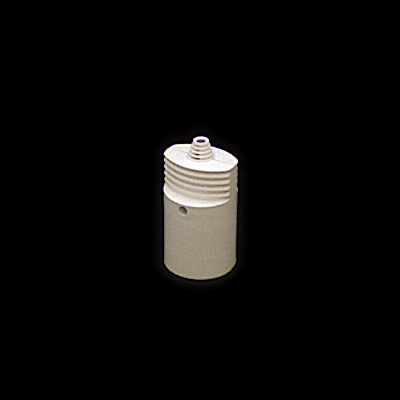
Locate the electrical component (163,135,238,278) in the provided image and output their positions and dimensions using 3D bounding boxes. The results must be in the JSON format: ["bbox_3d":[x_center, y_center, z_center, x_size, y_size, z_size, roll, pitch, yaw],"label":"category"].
[{"bbox_3d":[0.000,0.000,0.629,0.043,0.082,0.042,1,31,0],"label":"electrical component"}]
